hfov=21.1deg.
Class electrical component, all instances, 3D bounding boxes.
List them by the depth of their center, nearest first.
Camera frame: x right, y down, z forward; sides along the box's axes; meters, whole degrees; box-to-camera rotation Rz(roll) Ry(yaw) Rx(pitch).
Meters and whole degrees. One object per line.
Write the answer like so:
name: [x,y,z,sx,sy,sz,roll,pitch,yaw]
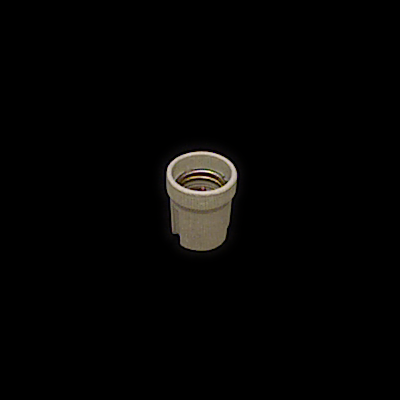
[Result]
electrical component: [0.000,0.000,0.634,0.040,0.047,0.039,1,42,0]
